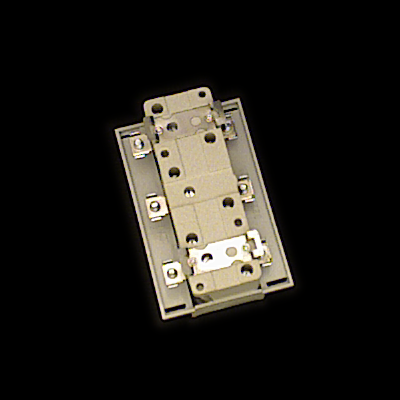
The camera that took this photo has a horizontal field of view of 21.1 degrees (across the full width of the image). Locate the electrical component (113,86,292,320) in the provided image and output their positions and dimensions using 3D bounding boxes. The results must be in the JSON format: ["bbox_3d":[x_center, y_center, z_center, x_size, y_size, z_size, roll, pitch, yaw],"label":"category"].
[{"bbox_3d":[0.000,0.000,0.634,0.079,0.121,0.062,-14,-16,-4],"label":"electrical component"}]
